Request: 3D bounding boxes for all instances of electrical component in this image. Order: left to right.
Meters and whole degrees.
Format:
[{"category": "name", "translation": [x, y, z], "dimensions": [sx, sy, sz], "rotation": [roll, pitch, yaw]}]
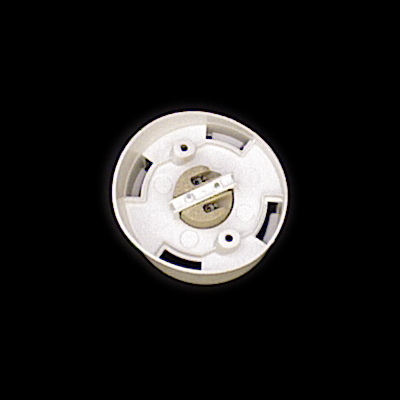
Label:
[{"category": "electrical component", "translation": [0.000, 0.000, 0.623], "dimensions": [0.099, 0.099, 0.064], "rotation": [0, -16, 1]}]
